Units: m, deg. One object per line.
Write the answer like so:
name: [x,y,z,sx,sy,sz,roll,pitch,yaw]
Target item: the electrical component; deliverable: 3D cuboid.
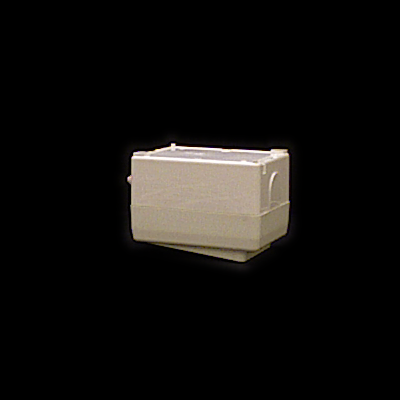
electrical component: [0.000,0.000,0.647,0.096,0.061,0.061,4,11,21]
